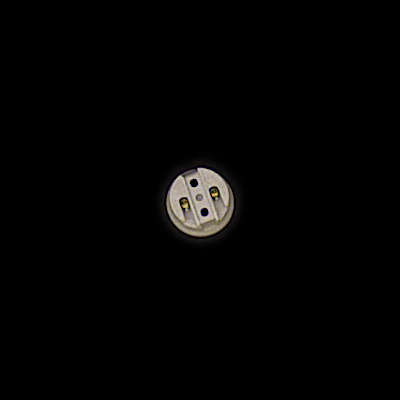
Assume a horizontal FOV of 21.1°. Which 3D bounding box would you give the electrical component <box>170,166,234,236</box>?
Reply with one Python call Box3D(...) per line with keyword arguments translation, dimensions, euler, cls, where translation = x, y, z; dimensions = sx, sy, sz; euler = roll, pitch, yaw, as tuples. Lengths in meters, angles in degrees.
Box3D(translation=(0.000, 0.000, 0.634), dimensions=(0.040, 0.040, 0.046), euler=(0, -6, 1), cls="electrical component")
